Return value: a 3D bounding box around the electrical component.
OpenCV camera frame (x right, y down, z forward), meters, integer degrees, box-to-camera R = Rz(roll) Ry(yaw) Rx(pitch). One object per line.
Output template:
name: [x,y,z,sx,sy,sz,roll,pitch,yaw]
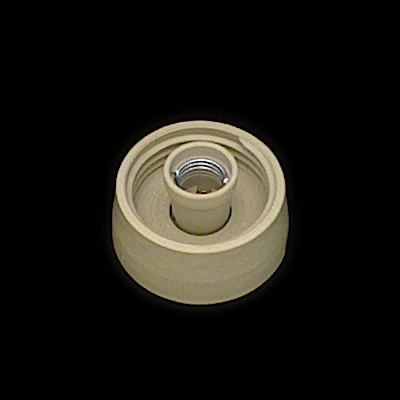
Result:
electrical component: [0.000,0.000,0.635,0.108,0.107,0.060,0,-37,-1]
